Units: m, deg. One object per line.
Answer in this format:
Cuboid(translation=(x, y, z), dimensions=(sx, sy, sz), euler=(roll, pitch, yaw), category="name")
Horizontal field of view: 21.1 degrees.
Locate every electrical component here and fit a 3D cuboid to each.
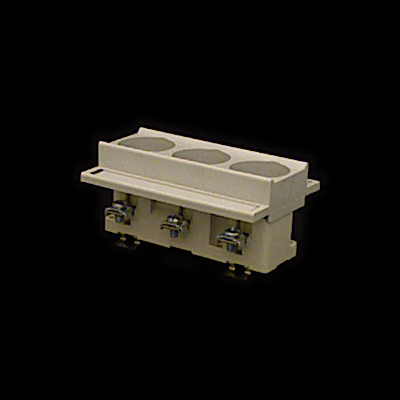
Cuboid(translation=(0.000, 0.000, 0.653), dimensions=(0.120, 0.064, 0.078), euler=(14, 24, 30), category="electrical component")
